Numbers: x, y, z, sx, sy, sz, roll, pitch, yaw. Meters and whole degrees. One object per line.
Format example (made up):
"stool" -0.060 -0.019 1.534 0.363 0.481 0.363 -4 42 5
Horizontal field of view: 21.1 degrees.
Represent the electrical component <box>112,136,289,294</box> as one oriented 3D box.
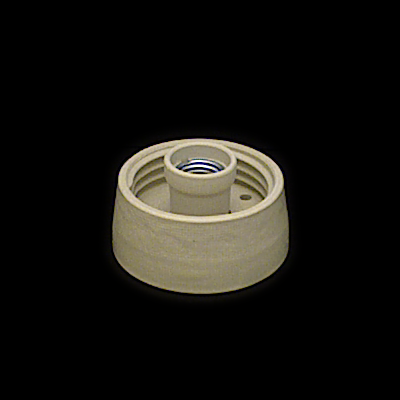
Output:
"electrical component" 0.000 0.000 0.641 0.108 0.061 0.106 1 32 0
